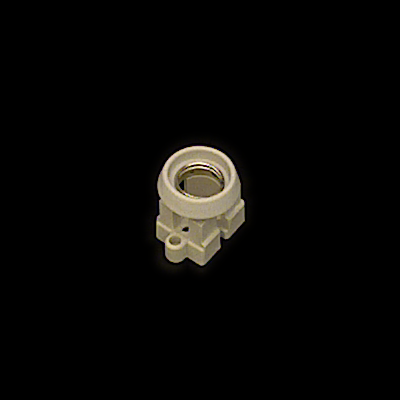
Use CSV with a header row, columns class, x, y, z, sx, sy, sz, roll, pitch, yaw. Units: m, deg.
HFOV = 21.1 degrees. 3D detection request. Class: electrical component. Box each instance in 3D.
class,x,y,z,sx,sy,sz,roll,pitch,yaw
electrical component,0.000,0.000,0.639,0.048,0.067,0.056,31,-31,19
